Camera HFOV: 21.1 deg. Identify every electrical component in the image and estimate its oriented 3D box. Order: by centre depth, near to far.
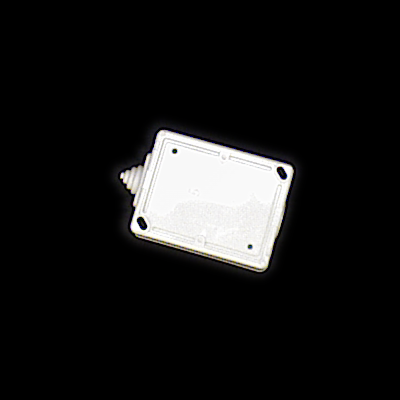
[{"bbox_3d":[0.000,-0.001,0.627,0.096,0.062,0.061,16,-6,2],"label":"electrical component"}]
